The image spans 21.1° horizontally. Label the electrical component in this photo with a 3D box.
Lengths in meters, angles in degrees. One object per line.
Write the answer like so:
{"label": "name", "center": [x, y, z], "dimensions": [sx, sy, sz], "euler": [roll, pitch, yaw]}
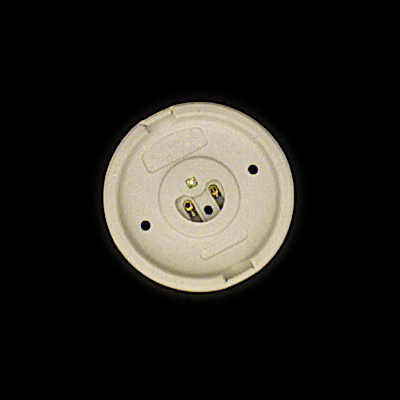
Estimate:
{"label": "electrical component", "center": [0.000, 0.000, 0.635], "dimensions": [0.108, 0.108, 0.060], "euler": [0, -5, 0]}
